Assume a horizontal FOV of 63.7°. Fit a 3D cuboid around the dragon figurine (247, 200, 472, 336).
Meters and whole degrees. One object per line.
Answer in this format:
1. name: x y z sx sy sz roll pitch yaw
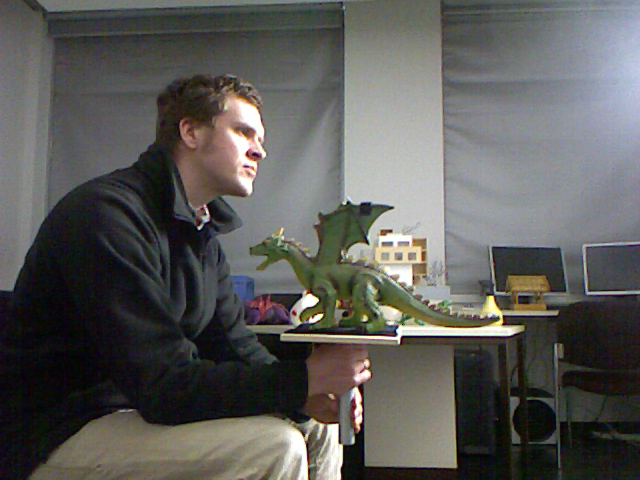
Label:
1. dragon figurine: 0.065 0.045 0.956 0.410 0.243 0.122 -2 -2 13
